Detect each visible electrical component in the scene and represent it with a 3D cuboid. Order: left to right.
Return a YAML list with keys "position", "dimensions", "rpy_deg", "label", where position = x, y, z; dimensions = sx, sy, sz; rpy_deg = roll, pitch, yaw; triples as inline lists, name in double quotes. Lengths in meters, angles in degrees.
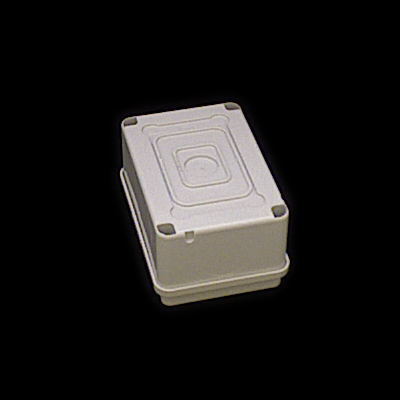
- position: [0.000, 0.000, 0.632]
  dimensions: [0.078, 0.057, 0.112]
  rpy_deg: [-9, 42, -11]
  label: "electrical component"
